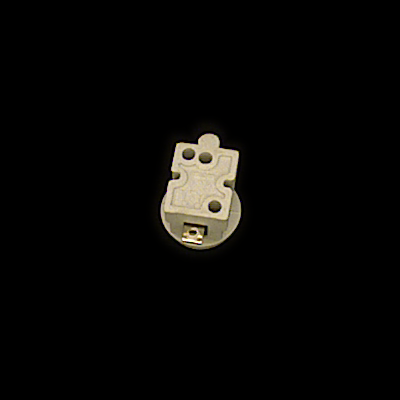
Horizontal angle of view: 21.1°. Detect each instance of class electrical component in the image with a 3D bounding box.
[{"bbox_3d":[0.000,0.000,0.638,0.048,0.066,0.055,9,-25,4],"label":"electrical component"}]
